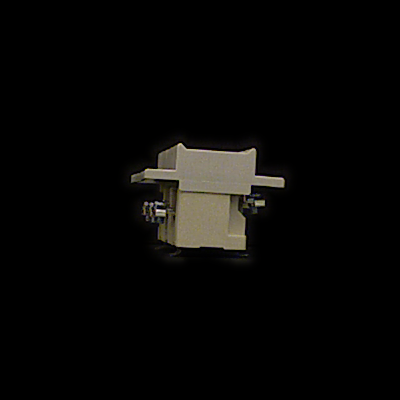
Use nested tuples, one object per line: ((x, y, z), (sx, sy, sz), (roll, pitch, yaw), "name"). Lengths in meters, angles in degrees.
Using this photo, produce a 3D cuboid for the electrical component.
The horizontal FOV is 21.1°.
((0.000, 0.000, 0.663), (0.079, 0.063, 0.121), (2, 0, -7), "electrical component")
